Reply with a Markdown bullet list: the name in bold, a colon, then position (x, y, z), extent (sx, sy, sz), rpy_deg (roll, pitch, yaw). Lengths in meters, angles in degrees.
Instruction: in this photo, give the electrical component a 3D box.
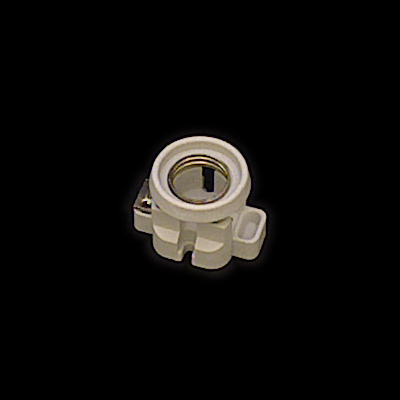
- **electrical component**: position (0.000, 0.000, 0.629), extent (0.078, 0.058, 0.057), rpy_deg (15, -36, 10)
